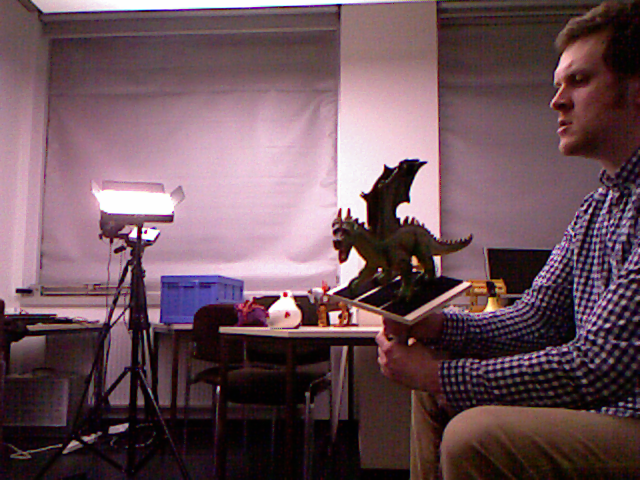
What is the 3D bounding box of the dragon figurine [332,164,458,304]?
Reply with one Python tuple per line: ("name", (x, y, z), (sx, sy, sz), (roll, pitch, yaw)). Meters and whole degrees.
("dragon figurine", (0.157, -0.027, 0.982), (0.123, 0.239, 0.415), (19, 31, 38))
